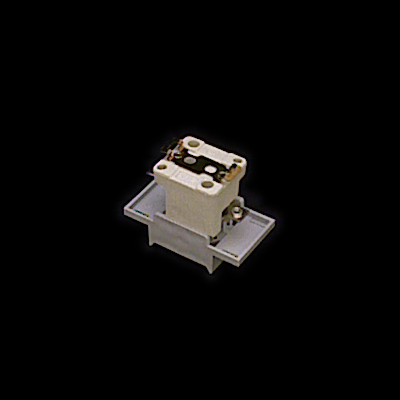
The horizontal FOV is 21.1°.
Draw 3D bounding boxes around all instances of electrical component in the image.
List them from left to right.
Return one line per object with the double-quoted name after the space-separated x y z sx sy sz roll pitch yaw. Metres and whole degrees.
0.000 0.000 0.630 0.080 0.064 0.042 23 46 23 "electrical component"
